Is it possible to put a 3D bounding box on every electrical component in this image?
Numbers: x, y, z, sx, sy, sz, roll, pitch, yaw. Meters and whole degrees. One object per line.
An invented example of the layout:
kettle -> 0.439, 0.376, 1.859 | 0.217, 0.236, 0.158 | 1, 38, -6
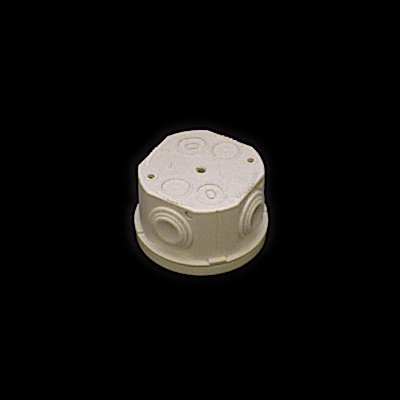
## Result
electrical component -> 0.000, 0.000, 0.634 | 0.080, 0.051, 0.080 | 0, 42, 0
